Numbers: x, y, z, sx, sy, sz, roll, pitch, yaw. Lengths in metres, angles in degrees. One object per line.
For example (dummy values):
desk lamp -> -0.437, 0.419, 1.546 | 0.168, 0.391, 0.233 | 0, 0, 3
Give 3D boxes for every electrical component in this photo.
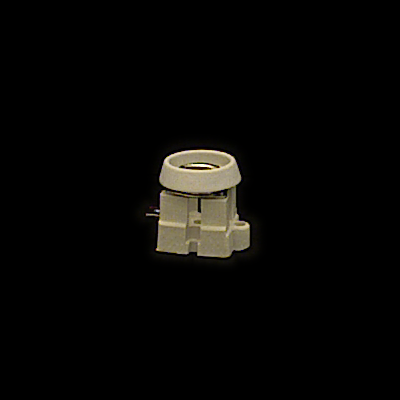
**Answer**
electrical component -> 0.000, 0.000, 0.646 | 0.066, 0.056, 0.048 | 5, 20, 9
